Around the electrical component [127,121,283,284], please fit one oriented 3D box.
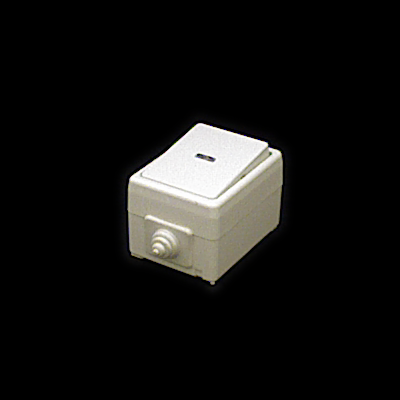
[{"bbox_3d":[0.000,0.000,0.632,0.061,0.061,0.096,19,35,27],"label":"electrical component"}]
